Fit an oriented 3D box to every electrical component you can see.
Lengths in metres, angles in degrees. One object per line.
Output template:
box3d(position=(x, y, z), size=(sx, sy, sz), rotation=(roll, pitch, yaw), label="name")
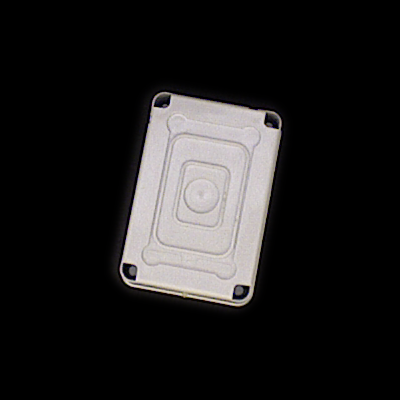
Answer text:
box3d(position=(0.000, 0.000, 0.628), size=(0.078, 0.113, 0.057), rotation=(11, -6, 1), label="electrical component")
